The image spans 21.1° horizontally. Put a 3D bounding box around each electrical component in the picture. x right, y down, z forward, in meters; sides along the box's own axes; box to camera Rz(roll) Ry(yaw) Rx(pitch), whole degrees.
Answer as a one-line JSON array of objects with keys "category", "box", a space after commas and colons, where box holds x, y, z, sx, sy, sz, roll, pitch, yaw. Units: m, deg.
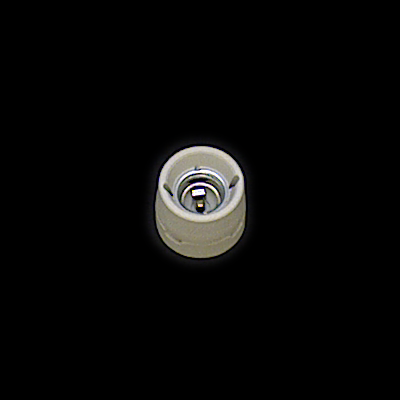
[{"category": "electrical component", "box": [0.000, 0.000, 0.633, 0.055, 0.056, 0.047, 0, -27, -1]}]
